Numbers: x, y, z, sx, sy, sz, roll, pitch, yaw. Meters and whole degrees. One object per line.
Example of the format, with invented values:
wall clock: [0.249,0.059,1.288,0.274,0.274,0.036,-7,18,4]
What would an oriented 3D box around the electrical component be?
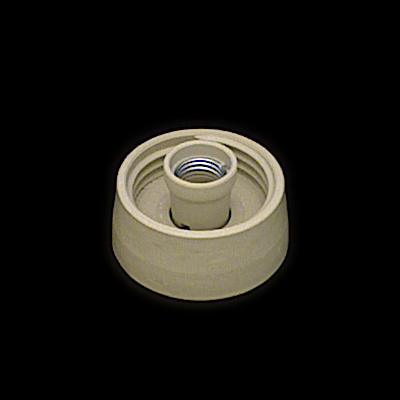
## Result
electrical component: [0.000,0.000,0.639,0.108,0.061,0.106,1,42,0]
